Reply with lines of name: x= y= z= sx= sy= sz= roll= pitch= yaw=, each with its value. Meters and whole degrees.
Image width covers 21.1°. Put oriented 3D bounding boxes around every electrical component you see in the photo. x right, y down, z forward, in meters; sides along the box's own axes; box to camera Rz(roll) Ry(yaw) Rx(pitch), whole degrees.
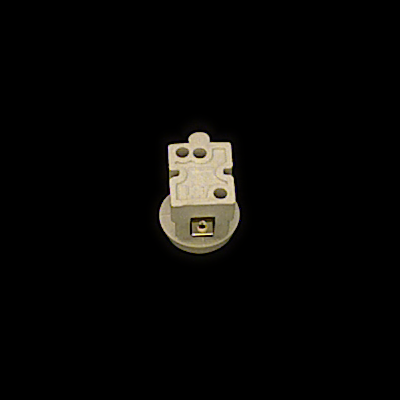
electrical component: x=0.000 y=0.000 z=0.639 sx=0.048 sy=0.066 sz=0.055 roll=-2 pitch=-36 yaw=-3
